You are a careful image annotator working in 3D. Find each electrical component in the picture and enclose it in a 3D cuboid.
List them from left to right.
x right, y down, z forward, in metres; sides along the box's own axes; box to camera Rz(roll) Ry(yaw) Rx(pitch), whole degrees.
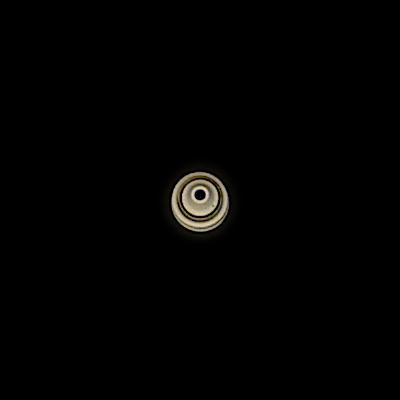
[{"bbox_3d":[0.000,0.000,0.638,0.035,0.035,0.061,0,-6,-1],"label":"electrical component"}]
